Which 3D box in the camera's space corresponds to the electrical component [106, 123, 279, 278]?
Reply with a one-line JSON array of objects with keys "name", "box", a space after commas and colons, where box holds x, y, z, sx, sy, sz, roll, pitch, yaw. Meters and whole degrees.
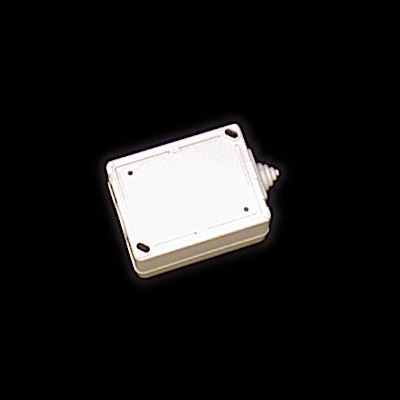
[{"name": "electrical component", "box": [0.000, 0.000, 0.627, 0.096, 0.062, 0.060, -17, -16, -6]}]
